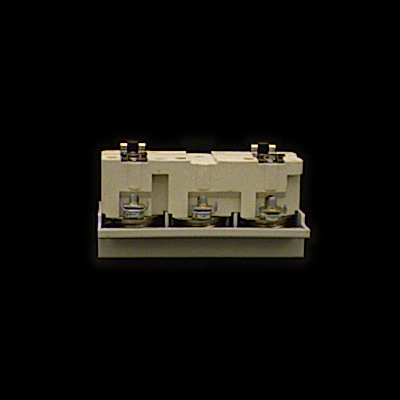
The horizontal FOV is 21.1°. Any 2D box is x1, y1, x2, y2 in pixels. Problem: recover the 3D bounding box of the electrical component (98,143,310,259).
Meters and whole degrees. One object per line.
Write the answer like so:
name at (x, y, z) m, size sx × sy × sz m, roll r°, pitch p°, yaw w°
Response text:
electrical component at (0.000, 0.000, 0.648) m, size 0.122 × 0.063 × 0.078 m, roll 0°, pitch 12°, yaw -6°
